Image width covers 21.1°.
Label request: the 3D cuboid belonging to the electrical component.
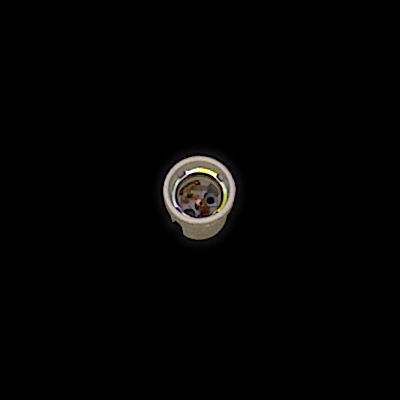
[{"bbox_3d":[0.000,0.000,0.627,0.040,0.040,0.046,0,-17,-1],"label":"electrical component"}]
